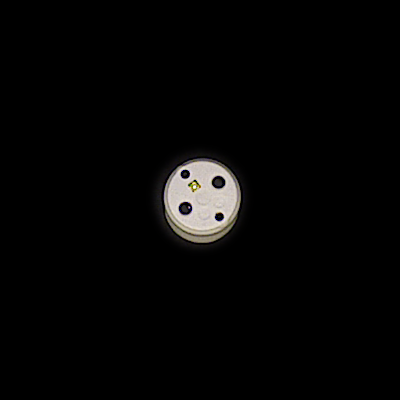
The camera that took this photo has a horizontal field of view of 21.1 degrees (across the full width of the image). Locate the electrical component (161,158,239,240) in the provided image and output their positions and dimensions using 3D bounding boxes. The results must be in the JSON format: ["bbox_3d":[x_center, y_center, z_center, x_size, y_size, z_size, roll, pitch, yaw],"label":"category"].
[{"bbox_3d":[0.000,0.000,0.629,0.045,0.045,0.055,0,-6,0],"label":"electrical component"}]
